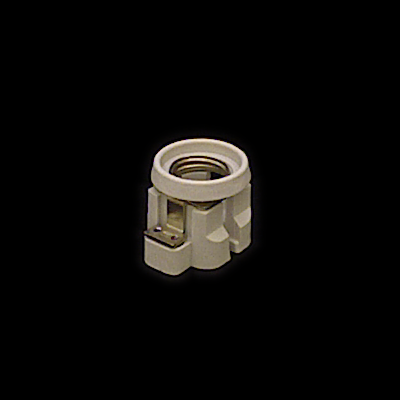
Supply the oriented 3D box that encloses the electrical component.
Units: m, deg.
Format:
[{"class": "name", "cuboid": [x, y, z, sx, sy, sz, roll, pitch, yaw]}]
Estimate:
[{"class": "electrical component", "cuboid": [0.000, 0.000, 0.633, 0.057, 0.057, 0.078, 23, 37, 31]}]
